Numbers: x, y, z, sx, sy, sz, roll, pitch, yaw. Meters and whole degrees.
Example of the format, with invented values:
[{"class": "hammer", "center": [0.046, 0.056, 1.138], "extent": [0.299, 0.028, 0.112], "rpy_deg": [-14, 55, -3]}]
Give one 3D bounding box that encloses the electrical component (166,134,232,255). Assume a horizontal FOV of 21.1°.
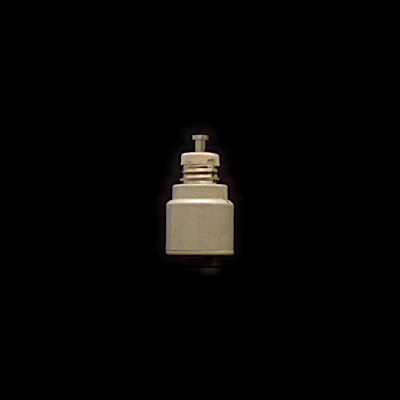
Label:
[{"class": "electrical component", "center": [0.000, 0.000, 0.649], "extent": [0.040, 0.078, 0.040], "rpy_deg": [0, 1, 0]}]
